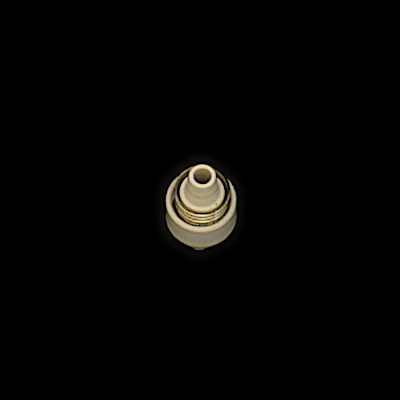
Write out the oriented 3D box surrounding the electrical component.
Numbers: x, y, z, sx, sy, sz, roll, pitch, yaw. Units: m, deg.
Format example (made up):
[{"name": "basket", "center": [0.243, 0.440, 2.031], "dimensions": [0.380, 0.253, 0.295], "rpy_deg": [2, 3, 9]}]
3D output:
[{"name": "electrical component", "center": [0.000, 0.000, 0.634], "dimensions": [0.043, 0.043, 0.062], "rpy_deg": [0, -27, -1]}]
